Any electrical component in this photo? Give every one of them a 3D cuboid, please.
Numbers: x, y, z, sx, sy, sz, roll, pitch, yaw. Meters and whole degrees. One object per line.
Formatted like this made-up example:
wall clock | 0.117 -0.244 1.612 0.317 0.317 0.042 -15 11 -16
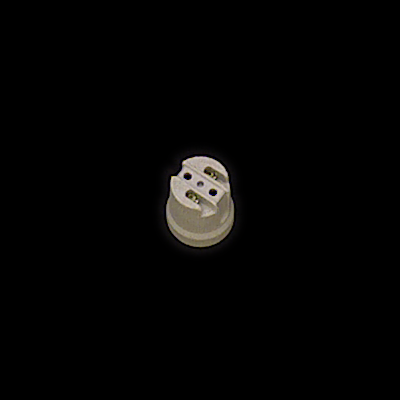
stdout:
electrical component | 0.000 0.000 0.632 0.040 0.040 0.046 0 -27 0
